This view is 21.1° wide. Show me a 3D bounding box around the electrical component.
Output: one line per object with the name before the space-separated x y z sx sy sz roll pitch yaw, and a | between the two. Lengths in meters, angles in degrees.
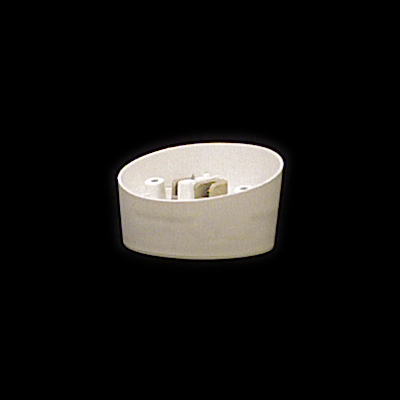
electrical component | 0.000 0.000 0.645 0.099 0.064 0.098 1 9 0
